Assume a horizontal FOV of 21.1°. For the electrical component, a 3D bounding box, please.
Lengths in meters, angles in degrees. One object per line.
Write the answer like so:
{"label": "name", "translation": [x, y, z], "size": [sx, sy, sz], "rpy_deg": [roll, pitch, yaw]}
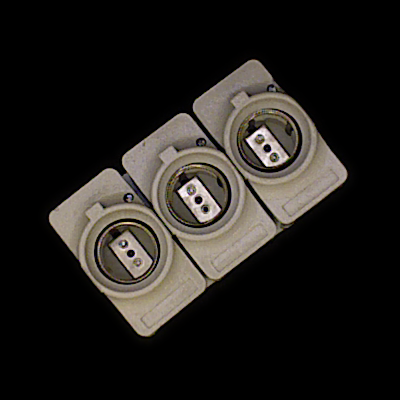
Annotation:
{"label": "electrical component", "translation": [0.000, 0.000, 0.632], "size": [0.150, 0.089, 0.061], "rpy_deg": [-38, -5, -4]}
